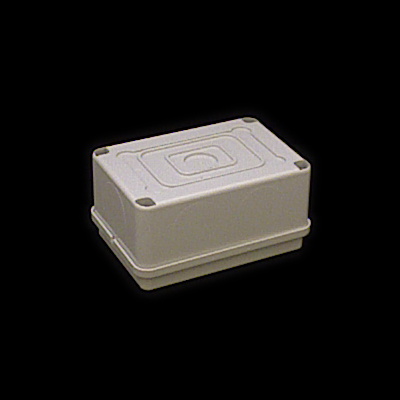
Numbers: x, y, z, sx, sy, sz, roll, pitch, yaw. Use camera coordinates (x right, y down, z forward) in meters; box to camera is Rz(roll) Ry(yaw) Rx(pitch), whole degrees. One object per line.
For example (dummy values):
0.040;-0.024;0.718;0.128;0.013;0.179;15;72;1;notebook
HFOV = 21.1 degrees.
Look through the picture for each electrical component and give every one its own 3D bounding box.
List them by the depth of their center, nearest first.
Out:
0.000;0.000;0.635;0.113;0.058;0.077;-14;35;-23;electrical component
